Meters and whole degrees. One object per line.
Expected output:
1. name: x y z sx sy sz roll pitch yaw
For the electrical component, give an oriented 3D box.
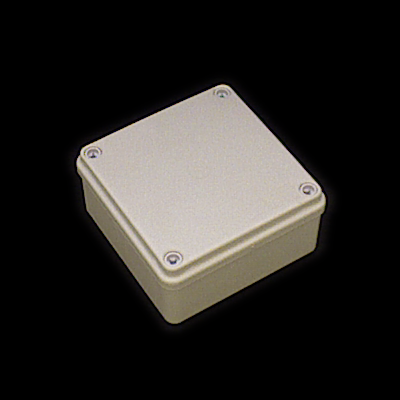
1. electrical component: 0.000 0.000 0.630 0.109 0.108 0.056 -27 -33 -20
